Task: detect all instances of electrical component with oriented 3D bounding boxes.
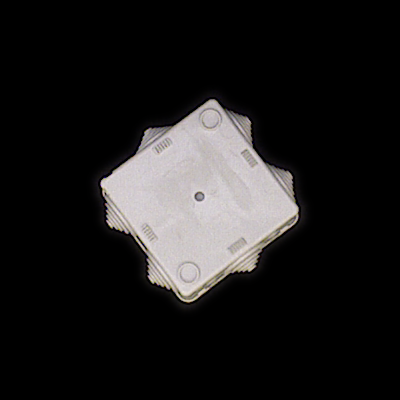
[{"bbox_3d":[0.000,0.000,0.632,0.100,0.100,0.048,-37,-5,-4],"label":"electrical component"}]
